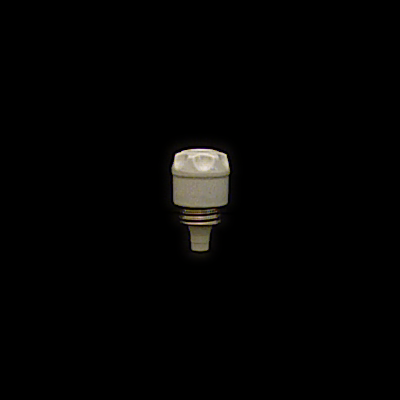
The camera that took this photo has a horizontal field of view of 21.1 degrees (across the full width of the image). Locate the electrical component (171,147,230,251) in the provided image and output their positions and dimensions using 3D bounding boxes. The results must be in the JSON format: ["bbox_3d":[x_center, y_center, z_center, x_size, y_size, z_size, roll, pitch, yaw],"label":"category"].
[{"bbox_3d":[0.000,0.000,0.652,0.035,0.062,0.035,1,12,0],"label":"electrical component"}]
